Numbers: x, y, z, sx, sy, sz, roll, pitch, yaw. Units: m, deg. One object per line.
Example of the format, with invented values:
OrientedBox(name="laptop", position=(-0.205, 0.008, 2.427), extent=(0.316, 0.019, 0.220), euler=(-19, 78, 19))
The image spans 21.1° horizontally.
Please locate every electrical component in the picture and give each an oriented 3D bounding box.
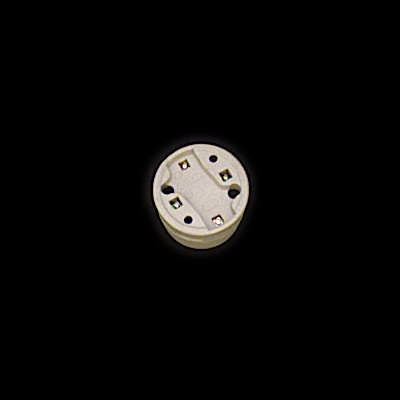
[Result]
OrientedBox(name="electrical component", position=(0.000, 0.000, 0.635), extent=(0.055, 0.056, 0.047), euler=(0, -17, 0))
